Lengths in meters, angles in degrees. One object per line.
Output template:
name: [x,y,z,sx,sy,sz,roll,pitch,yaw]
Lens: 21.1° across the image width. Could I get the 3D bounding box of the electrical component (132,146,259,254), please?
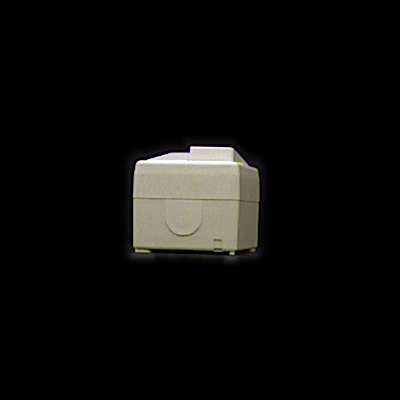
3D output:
electrical component: [0.000,0.000,0.653,0.061,0.061,0.096,1,0,12]
